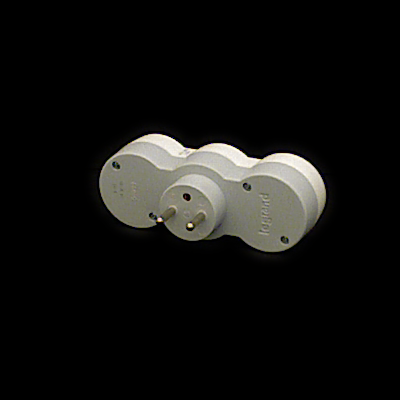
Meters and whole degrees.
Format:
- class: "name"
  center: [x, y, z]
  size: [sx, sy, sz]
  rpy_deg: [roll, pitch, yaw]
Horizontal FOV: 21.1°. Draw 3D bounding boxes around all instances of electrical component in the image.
- class: "electrical component"
  center: [0.000, 0.000, 0.645]
  size: [0.137, 0.053, 0.073]
  rpy_deg: [10, 25, 21]
